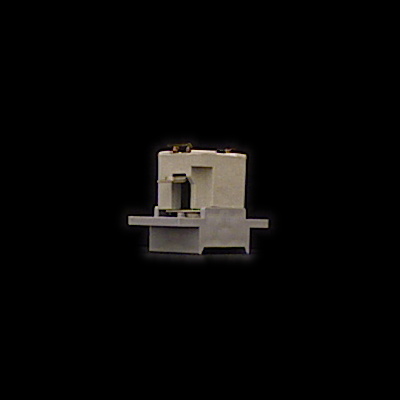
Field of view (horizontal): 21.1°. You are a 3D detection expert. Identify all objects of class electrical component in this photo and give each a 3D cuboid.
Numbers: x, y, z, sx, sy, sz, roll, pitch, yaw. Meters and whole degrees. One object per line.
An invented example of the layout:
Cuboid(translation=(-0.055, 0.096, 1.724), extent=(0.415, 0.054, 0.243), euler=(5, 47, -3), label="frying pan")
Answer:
Cuboid(translation=(0.000, 0.000, 0.650), extent=(0.042, 0.064, 0.081), euler=(2, 1, 41), label="electrical component")
